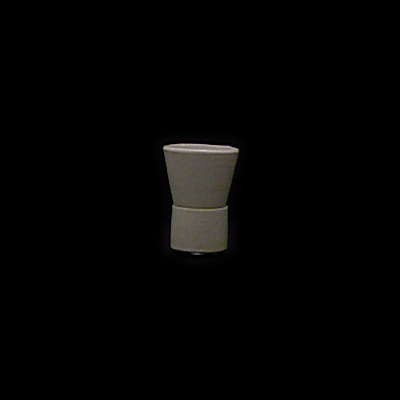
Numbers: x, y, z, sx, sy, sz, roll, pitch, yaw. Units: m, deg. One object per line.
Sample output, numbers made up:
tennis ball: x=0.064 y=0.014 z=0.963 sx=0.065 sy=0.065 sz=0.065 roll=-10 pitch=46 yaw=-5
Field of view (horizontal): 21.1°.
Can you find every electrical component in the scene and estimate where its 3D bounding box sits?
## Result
electrical component: x=0.000 y=0.000 z=0.646 sx=0.044 sy=0.066 sz=0.044 roll=1 pitch=10 yaw=0
